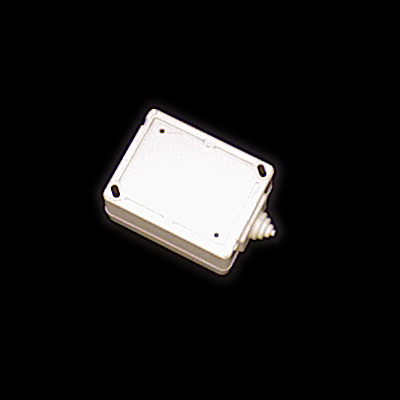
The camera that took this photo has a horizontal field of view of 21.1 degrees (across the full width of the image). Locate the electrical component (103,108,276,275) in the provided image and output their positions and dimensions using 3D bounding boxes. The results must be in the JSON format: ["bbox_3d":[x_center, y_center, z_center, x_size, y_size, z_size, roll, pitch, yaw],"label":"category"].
[{"bbox_3d":[0.000,0.000,0.627,0.096,0.062,0.060,26,-15,7],"label":"electrical component"}]
